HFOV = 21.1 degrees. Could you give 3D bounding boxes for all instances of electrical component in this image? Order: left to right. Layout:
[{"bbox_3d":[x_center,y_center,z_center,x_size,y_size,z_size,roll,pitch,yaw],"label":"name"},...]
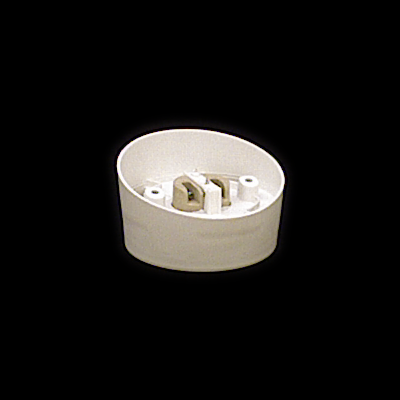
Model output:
[{"bbox_3d":[0.000,0.000,0.638,0.099,0.065,0.097,0,20,0],"label":"electrical component"}]
